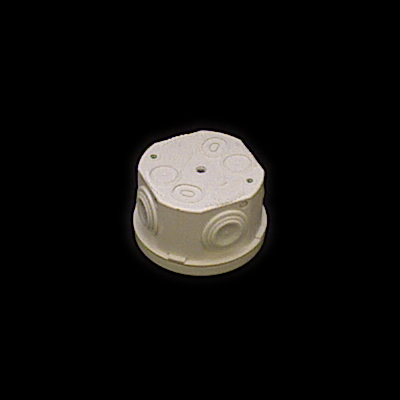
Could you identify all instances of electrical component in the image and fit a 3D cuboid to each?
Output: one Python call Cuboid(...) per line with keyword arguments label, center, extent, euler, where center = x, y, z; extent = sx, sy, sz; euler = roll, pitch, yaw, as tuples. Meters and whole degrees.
Cuboid(label="electrical component", center=(0.000, 0.000, 0.634), extent=(0.080, 0.051, 0.080), euler=(1, 42, -1))
